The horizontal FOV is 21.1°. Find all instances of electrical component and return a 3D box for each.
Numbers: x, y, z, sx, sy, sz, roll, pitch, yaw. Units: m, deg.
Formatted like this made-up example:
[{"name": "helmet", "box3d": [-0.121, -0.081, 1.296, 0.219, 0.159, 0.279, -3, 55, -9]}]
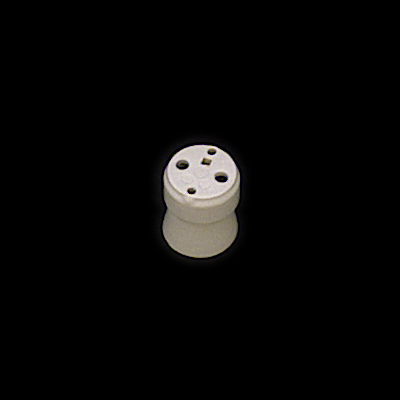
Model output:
[{"name": "electrical component", "box3d": [0.000, 0.000, 0.630, 0.045, 0.044, 0.055, 0, -37, -1]}]
